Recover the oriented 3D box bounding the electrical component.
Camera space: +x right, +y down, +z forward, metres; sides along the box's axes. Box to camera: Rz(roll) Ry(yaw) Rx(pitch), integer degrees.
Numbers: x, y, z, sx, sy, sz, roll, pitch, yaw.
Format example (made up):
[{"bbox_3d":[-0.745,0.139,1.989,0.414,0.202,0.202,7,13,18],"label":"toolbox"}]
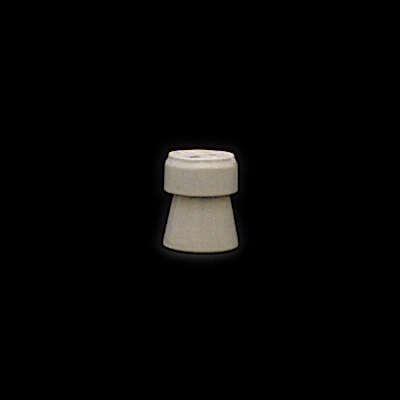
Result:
[{"bbox_3d":[0.000,0.000,0.643,0.045,0.055,0.044,1,11,0],"label":"electrical component"}]
